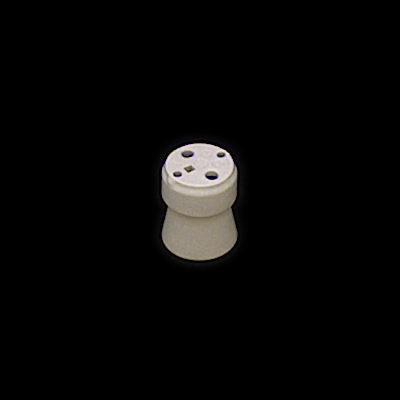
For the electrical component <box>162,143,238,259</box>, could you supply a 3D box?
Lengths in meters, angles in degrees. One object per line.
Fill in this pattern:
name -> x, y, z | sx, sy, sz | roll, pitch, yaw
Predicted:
electrical component -> 0.000, 0.000, 0.633 | 0.045, 0.055, 0.044 | 1, 42, 0
